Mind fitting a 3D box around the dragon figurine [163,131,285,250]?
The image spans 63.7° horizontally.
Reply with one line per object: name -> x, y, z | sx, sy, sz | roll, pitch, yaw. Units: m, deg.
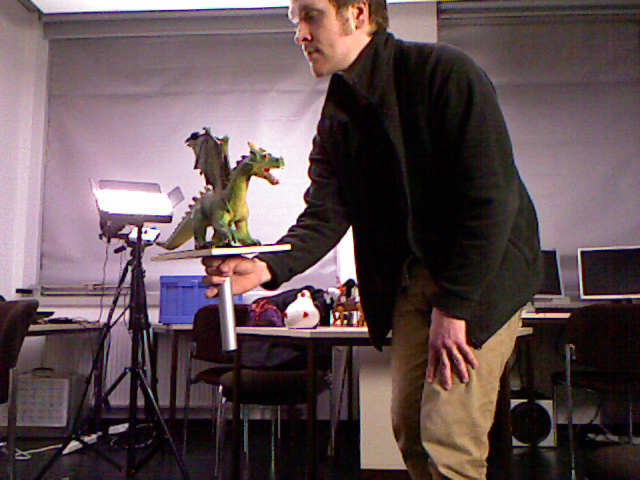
dragon figurine -> -0.230, -0.102, 1.068 | 0.409, 0.243, 0.123 | -5, 1, 39
